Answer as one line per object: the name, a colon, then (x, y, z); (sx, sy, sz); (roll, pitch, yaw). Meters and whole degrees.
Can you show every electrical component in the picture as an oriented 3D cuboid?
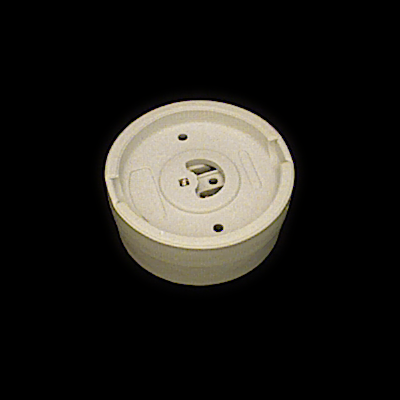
electrical component: (0.000, 0.000, 0.633); (0.108, 0.107, 0.060); (0, -37, -1)
